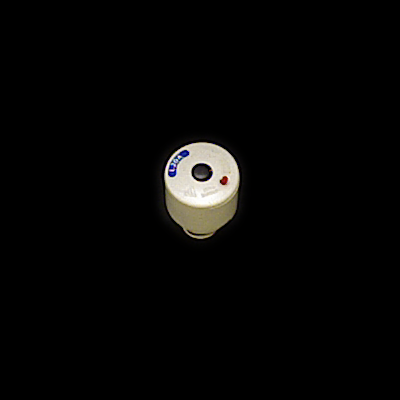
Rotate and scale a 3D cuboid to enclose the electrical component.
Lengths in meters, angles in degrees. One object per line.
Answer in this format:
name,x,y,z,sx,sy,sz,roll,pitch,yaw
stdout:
electrical component,0.000,0.000,0.617,0.040,0.040,0.078,0,-27,-1
